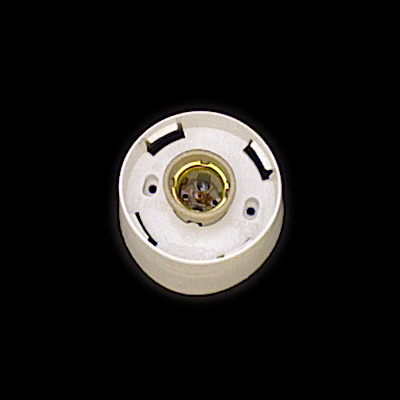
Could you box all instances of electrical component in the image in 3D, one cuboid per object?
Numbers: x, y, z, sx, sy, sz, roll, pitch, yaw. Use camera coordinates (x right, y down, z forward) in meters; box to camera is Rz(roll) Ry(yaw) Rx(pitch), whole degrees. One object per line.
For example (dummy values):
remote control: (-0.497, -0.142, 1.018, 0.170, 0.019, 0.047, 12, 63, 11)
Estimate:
electrical component: (0.000, 0.000, 0.625, 0.099, 0.099, 0.064, 0, -17, 0)
